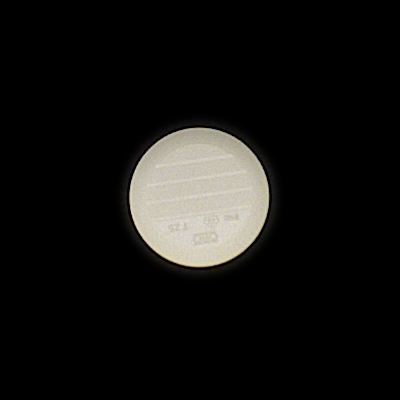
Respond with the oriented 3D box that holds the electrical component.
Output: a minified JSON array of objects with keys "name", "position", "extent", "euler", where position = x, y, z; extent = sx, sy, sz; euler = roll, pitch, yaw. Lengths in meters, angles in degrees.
[{"name":"electrical component","position":[0.000,0.000,0.631],"extent":[0.080,0.080,0.050],"euler":[0,-7,0]}]
